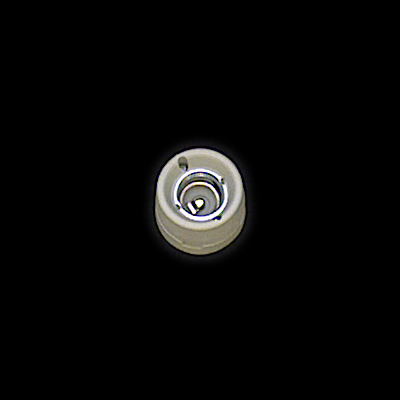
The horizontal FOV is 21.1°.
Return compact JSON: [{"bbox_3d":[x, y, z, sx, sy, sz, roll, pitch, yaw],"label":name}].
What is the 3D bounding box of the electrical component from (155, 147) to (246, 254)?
[{"bbox_3d":[0.000,0.000,0.633,0.055,0.056,0.047,0,-18,0],"label":"electrical component"}]
